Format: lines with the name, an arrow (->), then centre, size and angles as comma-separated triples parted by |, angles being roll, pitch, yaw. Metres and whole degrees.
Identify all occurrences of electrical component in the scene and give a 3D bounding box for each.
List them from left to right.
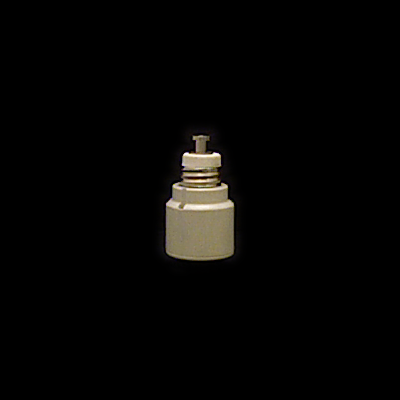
electrical component -> 0.000, 0.000, 0.643 | 0.040, 0.079, 0.040 | 1, 12, 0
